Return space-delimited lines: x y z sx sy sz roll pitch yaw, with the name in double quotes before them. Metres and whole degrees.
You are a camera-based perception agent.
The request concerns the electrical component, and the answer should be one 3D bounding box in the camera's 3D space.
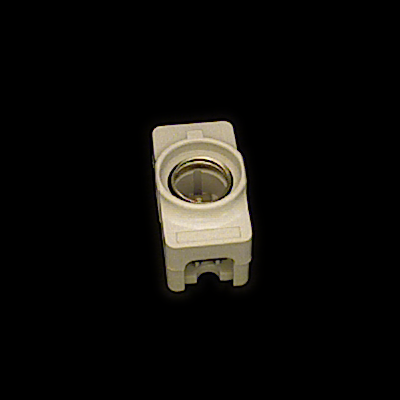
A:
"electrical component" 0.000 0.000 0.637 0.050 0.089 0.056 -6 -36 -5
